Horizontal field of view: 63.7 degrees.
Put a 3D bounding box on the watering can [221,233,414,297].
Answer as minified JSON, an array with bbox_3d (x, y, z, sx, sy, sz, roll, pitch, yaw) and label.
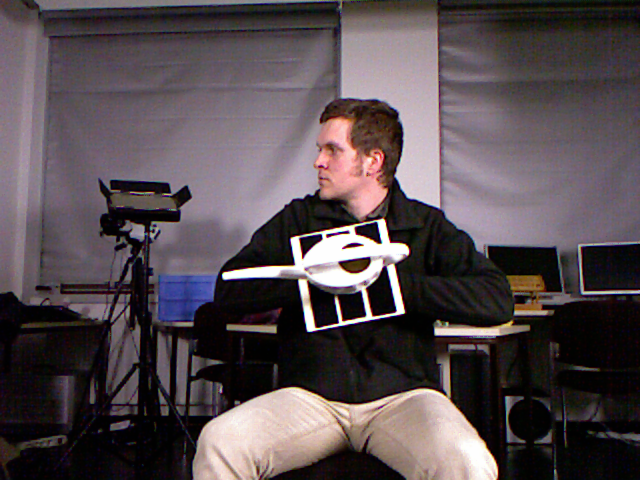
[{"bbox_3d":[0.003,0.053,0.988,0.349,0.106,0.223,-9,-14,3],"label":"watering can"}]
